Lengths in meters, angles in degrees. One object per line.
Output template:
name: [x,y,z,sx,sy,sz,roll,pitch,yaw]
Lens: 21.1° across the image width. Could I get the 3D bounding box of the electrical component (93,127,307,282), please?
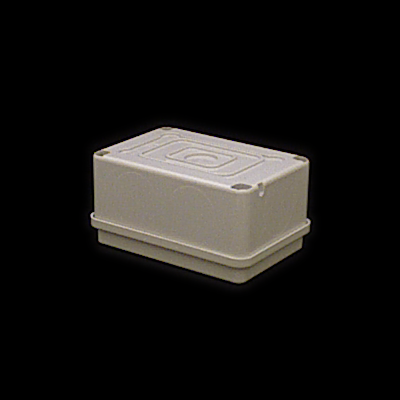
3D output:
electrical component: [0.000,0.000,0.639,0.112,0.058,0.078,14,25,32]
